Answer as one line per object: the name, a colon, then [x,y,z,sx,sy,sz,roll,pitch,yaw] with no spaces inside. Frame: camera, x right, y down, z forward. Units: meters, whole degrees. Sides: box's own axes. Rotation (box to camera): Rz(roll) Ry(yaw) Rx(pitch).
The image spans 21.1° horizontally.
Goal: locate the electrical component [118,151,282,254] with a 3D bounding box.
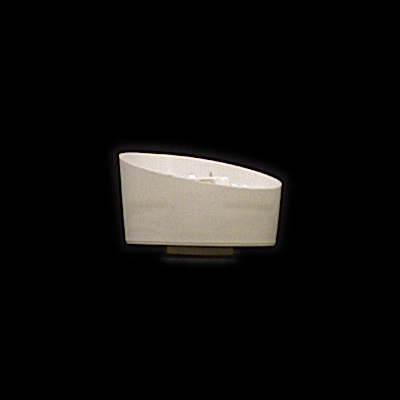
electrical component: [0.000,0.000,0.649,0.099,0.064,0.099,0,0,0]
